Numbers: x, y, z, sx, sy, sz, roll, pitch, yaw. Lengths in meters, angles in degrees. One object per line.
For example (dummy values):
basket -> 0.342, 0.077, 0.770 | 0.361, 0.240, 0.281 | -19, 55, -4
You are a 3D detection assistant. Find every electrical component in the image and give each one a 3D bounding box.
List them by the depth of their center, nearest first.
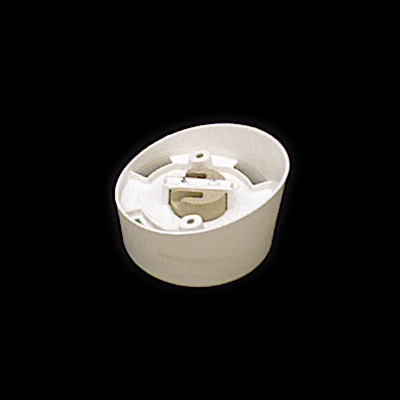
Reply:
electrical component -> 0.000, 0.000, 0.630 | 0.099, 0.065, 0.097 | 1, 41, -1
